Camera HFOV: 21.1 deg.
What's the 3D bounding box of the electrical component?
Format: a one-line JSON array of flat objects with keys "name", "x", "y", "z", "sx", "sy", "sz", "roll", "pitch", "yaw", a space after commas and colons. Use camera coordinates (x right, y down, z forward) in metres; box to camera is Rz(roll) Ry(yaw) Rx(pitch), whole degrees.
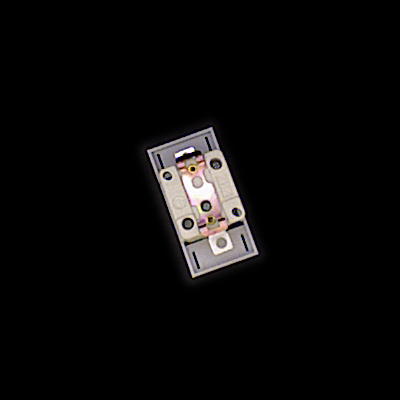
[{"name": "electrical component", "x": 0.000, "y": 0.000, "z": 0.626, "sx": 0.042, "sy": 0.081, "sz": 0.063, "roll": -20, "pitch": -6, "yaw": -1}]
